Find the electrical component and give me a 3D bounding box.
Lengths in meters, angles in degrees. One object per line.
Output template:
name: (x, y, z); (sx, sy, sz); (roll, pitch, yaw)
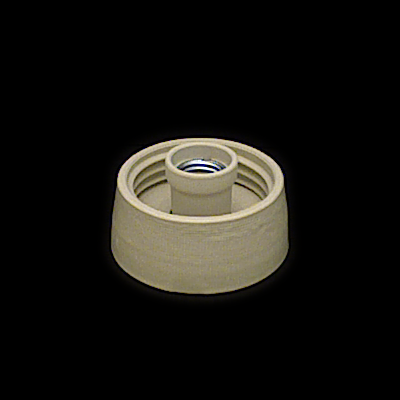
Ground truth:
electrical component: (0.000, 0.000, 0.640); (0.108, 0.061, 0.106); (1, 32, 0)
